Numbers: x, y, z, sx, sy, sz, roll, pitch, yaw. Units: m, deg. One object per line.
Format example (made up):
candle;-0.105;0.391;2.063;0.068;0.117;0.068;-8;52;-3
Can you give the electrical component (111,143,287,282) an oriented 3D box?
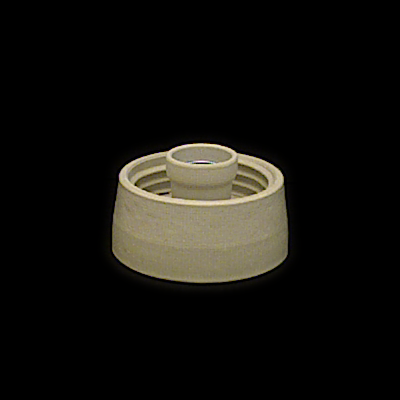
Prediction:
electrical component;0.000;0.000;0.647;0.108;0.061;0.106;1;21;0
